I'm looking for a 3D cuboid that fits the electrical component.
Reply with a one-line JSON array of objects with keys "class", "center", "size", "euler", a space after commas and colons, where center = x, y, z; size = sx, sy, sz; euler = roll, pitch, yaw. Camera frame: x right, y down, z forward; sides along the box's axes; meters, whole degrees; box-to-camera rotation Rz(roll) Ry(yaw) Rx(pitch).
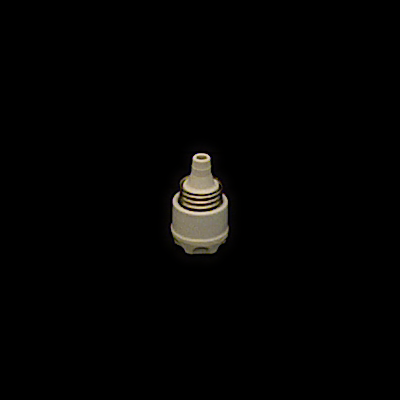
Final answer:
[{"class": "electrical component", "center": [0.000, 0.000, 0.646], "size": [0.035, 0.062, 0.034], "euler": [2, 31, -1]}]
